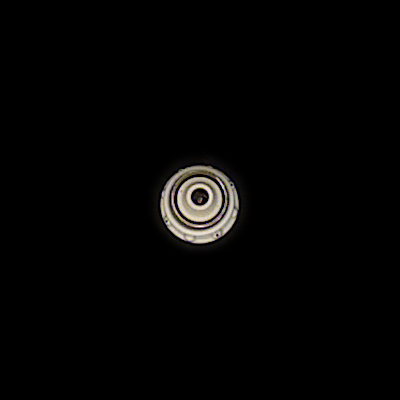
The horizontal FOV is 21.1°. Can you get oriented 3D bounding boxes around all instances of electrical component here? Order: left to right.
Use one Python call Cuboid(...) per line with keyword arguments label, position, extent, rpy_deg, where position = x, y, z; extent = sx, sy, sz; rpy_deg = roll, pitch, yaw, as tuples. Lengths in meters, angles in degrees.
Cuboid(label="electrical component", position=(0.000, 0.000, 0.635), extent=(0.048, 0.048, 0.062), rpy_deg=(0, -5, -1))
